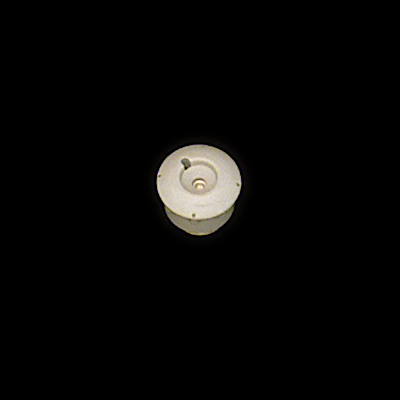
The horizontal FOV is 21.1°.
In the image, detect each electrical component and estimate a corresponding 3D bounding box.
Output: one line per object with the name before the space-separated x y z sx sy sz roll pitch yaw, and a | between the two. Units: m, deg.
electrical component | 0.000 0.000 0.633 0.048 0.048 0.062 0 -27 0
